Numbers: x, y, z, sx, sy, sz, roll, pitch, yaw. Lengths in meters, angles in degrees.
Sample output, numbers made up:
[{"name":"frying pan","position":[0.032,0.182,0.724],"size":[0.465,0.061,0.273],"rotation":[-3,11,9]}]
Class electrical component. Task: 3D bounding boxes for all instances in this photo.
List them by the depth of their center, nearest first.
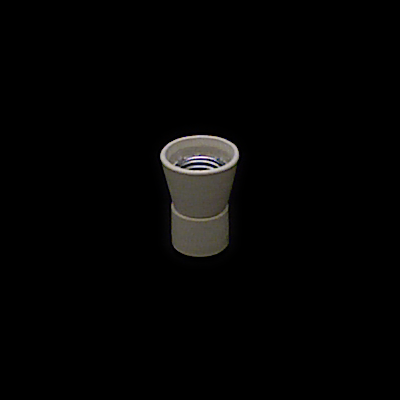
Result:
[{"name":"electrical component","position":[0.000,0.000,0.632],"size":[0.044,0.066,0.044],"rotation":[0,32,0]}]
